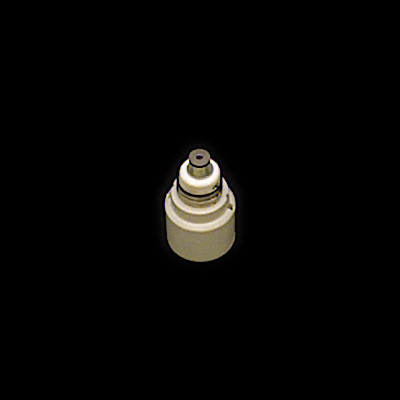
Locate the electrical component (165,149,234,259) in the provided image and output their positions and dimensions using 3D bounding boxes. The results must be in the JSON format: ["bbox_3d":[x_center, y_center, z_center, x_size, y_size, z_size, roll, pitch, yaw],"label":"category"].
[{"bbox_3d":[0.000,0.000,0.620,0.040,0.040,0.079,0,-38,1],"label":"electrical component"}]
